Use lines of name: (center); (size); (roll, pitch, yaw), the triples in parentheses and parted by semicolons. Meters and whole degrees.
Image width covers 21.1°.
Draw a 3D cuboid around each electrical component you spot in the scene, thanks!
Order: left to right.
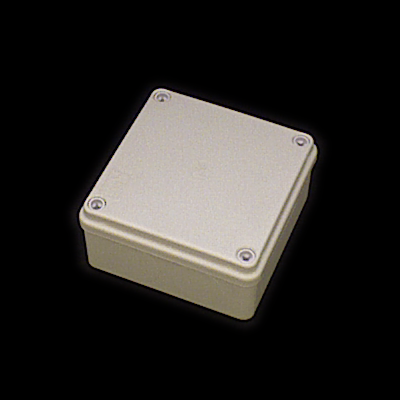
electrical component: (0.000, 0.000, 0.631); (0.108, 0.108, 0.056); (19, -36, 13)
